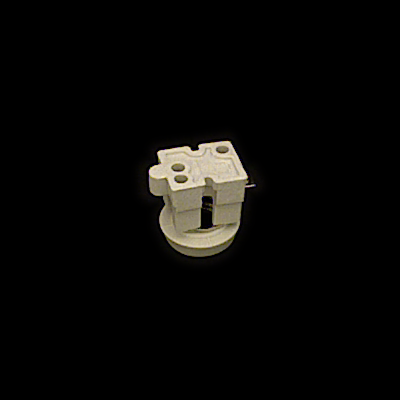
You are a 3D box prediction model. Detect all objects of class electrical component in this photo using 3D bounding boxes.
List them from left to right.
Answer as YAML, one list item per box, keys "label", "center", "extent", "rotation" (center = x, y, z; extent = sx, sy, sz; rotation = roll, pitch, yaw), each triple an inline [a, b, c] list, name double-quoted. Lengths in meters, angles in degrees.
- label: "electrical component"
  center: [0.000, 0.000, 0.639]
  extent: [0.067, 0.056, 0.048]
  rotation: [-10, 42, -13]
